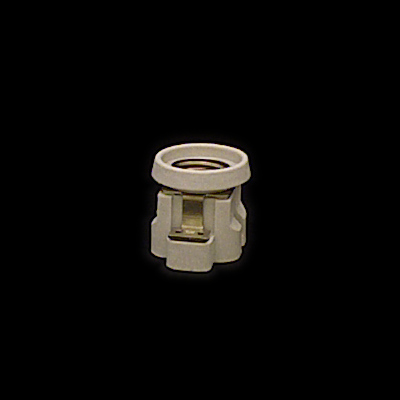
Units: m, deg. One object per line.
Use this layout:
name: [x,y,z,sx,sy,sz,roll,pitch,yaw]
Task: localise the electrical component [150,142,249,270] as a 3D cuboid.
electrical component: [0.000,0.000,0.637,0.058,0.057,0.077,5,21,9]
